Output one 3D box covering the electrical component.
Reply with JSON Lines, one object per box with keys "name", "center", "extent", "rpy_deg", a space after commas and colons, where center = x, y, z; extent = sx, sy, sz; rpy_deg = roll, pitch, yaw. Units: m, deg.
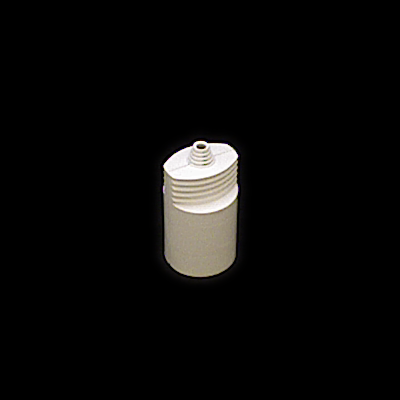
{"name": "electrical component", "center": [0.000, 0.000, 0.624], "extent": [0.043, 0.082, 0.042], "rpy_deg": [1, 42, 0]}
